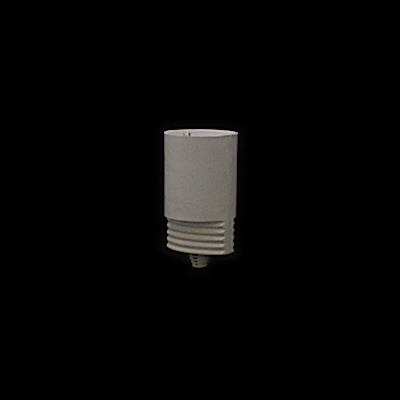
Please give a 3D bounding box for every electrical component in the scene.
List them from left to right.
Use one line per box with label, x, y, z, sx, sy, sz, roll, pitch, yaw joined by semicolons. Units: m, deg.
electrical component;0.000;0.000;0.641;0.043;0.081;0.043;1;10;0
